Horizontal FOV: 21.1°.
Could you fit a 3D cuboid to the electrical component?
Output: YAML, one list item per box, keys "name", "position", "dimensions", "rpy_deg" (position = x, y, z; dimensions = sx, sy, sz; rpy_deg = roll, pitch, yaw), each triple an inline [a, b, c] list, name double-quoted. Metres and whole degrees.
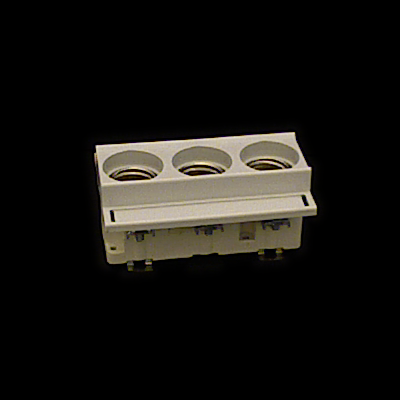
- name: "electrical component"
  position: [0.000, 0.000, 0.646]
  dimensions: [0.121, 0.064, 0.077]
  rpy_deg: [-4, 34, -8]
